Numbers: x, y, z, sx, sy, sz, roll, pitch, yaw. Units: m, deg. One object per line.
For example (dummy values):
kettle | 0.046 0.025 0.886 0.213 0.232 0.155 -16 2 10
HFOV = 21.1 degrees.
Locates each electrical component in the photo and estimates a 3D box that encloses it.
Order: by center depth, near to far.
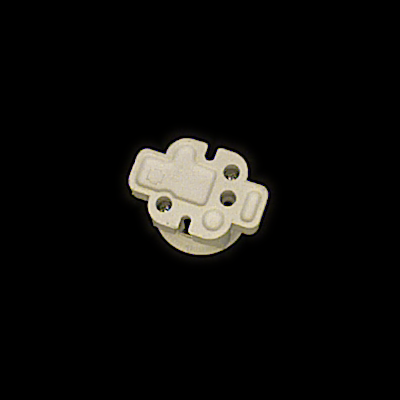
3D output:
electrical component | 0.000 0.000 0.635 0.078 0.058 0.056 17 -15 6
